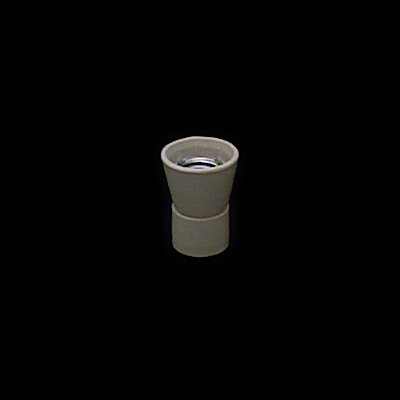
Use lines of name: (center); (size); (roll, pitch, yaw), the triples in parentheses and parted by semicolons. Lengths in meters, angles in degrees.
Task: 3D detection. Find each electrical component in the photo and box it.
electrical component: (0.000, 0.000, 0.634); (0.044, 0.066, 0.044); (0, 31, 0)
